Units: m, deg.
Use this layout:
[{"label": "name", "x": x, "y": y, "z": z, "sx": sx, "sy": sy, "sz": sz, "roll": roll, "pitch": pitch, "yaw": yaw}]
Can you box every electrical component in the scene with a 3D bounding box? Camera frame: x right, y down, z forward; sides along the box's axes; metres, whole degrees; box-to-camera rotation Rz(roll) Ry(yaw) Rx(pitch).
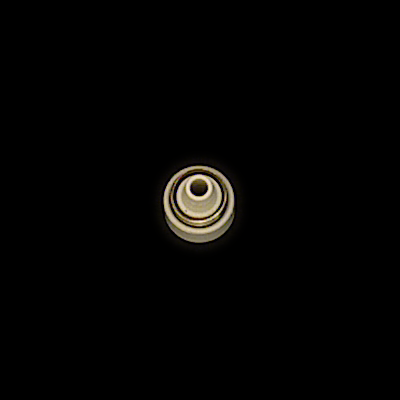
[{"label": "electrical component", "x": 0.000, "y": 0.000, "z": 0.633, "sx": 0.043, "sy": 0.043, "sz": 0.061, "roll": 0, "pitch": -14, "yaw": 0}]
